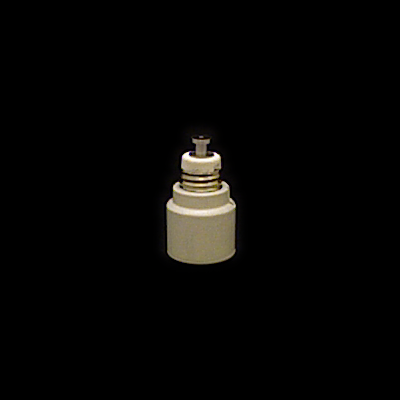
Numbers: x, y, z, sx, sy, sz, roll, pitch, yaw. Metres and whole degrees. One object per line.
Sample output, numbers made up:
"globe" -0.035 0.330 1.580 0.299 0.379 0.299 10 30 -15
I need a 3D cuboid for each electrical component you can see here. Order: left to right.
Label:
"electrical component" 0.000 0.000 0.635 0.040 0.079 0.039 0 22 0
